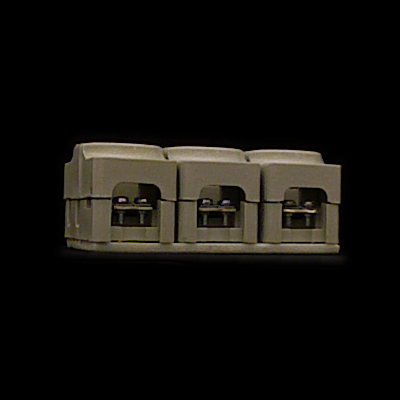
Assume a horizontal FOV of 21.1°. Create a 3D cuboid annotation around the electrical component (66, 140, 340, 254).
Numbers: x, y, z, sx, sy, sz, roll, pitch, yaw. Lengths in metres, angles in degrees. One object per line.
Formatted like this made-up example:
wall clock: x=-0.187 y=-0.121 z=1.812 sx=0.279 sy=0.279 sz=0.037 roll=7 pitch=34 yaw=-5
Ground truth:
electrical component: x=0.000 y=0.000 z=0.658 sx=0.150 sy=0.062 sz=0.089 roll=2 pitch=-1 yaw=-18
